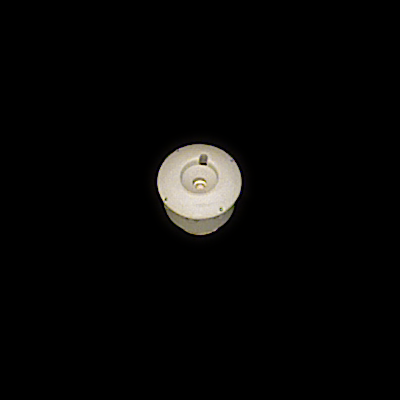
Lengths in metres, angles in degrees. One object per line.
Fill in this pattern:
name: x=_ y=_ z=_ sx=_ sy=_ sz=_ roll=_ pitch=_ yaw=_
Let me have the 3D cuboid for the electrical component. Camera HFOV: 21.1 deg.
electrical component: x=0.000 y=0.000 z=0.634 sx=0.048 sy=0.048 sz=0.062 roll=0 pitch=-27 yaw=0
